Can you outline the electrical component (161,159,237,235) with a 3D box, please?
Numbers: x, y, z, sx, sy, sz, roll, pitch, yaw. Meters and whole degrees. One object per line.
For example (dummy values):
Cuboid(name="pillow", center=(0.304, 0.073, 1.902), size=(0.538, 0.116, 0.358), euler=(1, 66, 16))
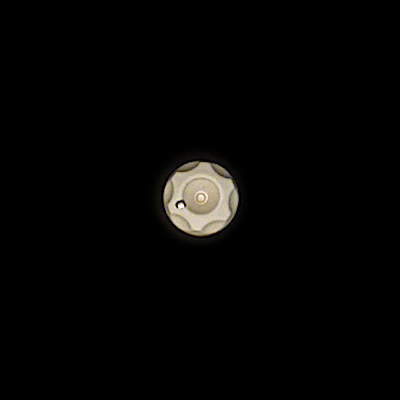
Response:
Cuboid(name="electrical component", center=(0.000, 0.000, 0.635), size=(0.043, 0.043, 0.062), euler=(0, -6, 0))
